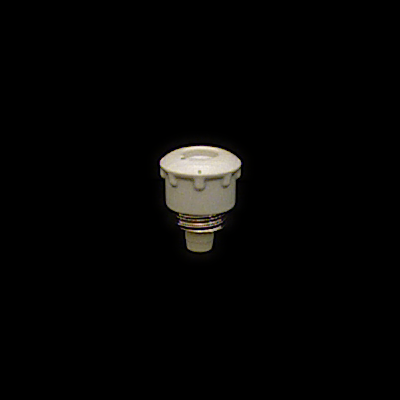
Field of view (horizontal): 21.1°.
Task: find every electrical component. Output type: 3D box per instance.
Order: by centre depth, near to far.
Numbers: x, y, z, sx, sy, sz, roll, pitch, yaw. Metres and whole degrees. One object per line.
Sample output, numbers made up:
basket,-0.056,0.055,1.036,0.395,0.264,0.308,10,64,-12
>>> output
electrical component,0.000,0.000,0.644,0.048,0.062,0.047,1,22,0
